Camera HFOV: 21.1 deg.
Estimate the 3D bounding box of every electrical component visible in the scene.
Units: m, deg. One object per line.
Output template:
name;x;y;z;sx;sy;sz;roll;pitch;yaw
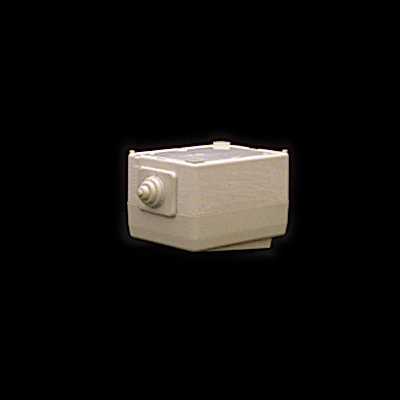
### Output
electrical component;0.000;0.000;0.646;0.096;0.061;0.061;-9;15;-42
